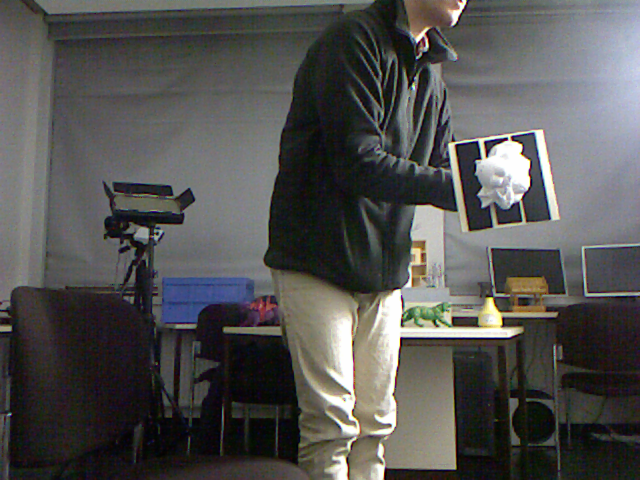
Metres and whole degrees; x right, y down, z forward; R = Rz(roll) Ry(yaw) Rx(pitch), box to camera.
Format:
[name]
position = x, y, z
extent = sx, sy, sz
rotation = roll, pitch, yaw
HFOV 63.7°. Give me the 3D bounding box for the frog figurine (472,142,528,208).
[frog figurine]
position = 0.376, -0.137, 1.053
extent = 0.123, 0.138, 0.159
rotation = 15, -5, 4
